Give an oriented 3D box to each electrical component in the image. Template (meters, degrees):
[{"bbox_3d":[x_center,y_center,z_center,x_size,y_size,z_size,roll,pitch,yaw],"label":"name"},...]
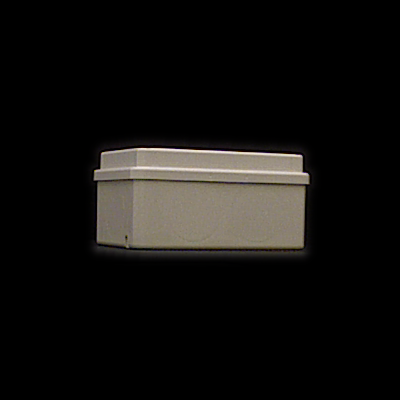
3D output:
[{"bbox_3d":[0.000,0.000,0.651,0.113,0.057,0.078,1,0,-25],"label":"electrical component"}]
